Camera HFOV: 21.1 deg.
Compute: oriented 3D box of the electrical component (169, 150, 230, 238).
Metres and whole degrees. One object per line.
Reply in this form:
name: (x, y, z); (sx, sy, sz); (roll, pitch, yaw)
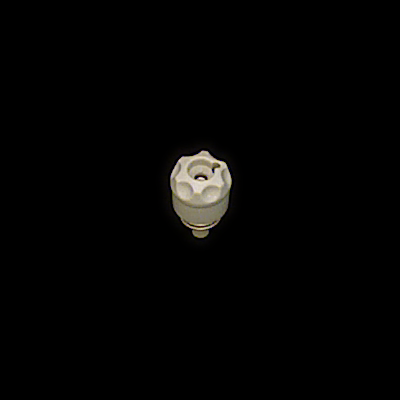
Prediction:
electrical component: (0.000, 0.000, 0.635); (0.035, 0.035, 0.062); (0, -37, 0)
